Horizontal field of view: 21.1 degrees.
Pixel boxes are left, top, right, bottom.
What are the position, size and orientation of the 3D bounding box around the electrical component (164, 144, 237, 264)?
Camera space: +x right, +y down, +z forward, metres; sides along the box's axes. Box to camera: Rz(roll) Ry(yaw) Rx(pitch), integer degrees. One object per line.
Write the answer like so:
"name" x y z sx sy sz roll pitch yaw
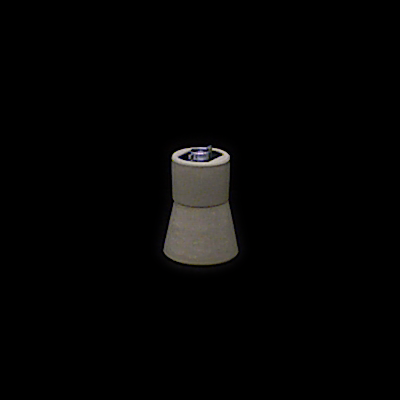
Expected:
"electrical component" 0.000 0.000 0.639 0.044 0.066 0.044 0 21 0
